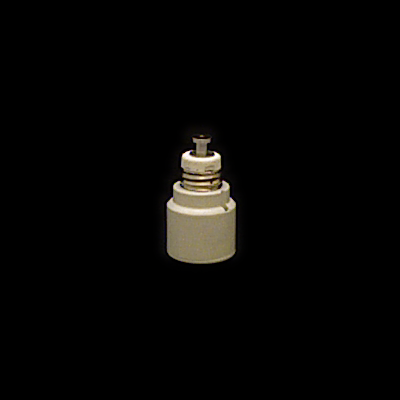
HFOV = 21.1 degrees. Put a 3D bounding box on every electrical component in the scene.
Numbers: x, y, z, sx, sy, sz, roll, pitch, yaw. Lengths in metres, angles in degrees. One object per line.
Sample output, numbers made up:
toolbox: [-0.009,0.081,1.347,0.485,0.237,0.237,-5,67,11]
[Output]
electrical component: [0.000,0.000,0.634,0.040,0.079,0.039,0,21,0]
